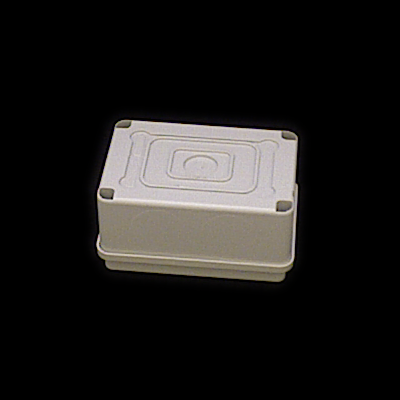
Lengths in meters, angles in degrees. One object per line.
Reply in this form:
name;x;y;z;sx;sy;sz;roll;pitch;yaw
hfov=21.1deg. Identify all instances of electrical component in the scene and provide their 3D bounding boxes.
electrical component;0.000;0.000;0.632;0.113;0.057;0.077;4;42;4
